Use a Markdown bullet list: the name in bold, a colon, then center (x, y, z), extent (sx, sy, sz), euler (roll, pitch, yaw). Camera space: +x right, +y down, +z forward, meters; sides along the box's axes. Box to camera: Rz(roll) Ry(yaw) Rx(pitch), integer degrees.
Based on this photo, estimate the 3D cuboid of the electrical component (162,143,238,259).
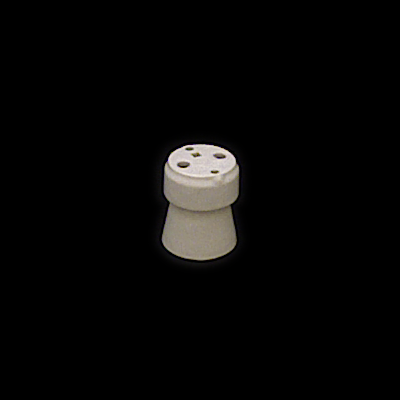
- **electrical component**: center (0.000, 0.000, 0.636), extent (0.045, 0.056, 0.044), euler (1, 32, -1)
